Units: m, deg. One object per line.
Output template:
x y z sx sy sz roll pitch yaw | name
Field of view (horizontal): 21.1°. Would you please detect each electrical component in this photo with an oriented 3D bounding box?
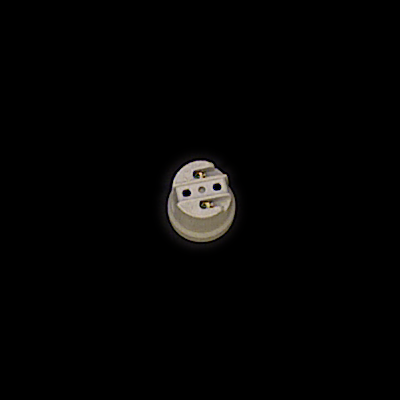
0.000 0.000 0.633 0.040 0.040 0.046 0 -16 1 | electrical component
